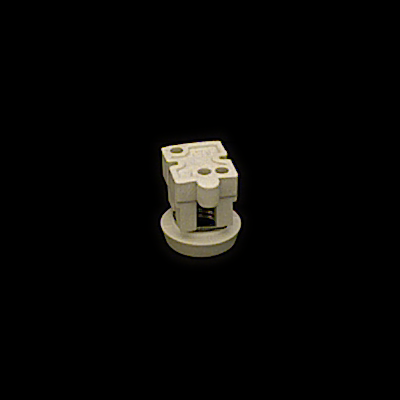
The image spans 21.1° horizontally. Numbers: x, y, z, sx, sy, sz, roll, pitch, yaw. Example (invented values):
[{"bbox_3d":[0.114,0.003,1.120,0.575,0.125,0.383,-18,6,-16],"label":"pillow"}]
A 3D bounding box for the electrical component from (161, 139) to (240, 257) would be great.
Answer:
[{"bbox_3d":[0.000,0.000,0.643,0.048,0.056,0.065,-8,33,-11],"label":"electrical component"}]
